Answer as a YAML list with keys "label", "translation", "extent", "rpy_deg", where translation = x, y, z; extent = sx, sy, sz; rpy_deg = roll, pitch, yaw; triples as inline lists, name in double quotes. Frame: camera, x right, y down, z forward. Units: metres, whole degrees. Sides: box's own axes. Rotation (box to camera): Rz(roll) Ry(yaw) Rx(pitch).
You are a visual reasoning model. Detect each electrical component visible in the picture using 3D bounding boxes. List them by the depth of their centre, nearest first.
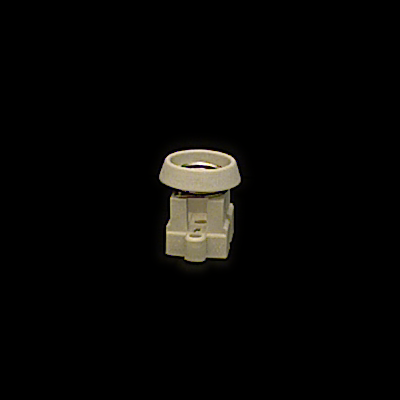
- label: "electrical component"
  translation: [0.000, 0.000, 0.648]
  extent: [0.048, 0.056, 0.066]
  rpy_deg: [5, 22, 4]
